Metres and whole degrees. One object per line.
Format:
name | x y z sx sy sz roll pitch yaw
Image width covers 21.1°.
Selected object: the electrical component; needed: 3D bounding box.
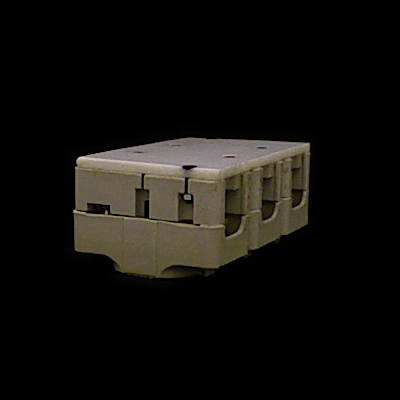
electrical component | 0.000 0.000 0.647 0.089 0.062 0.149 5 11 24
